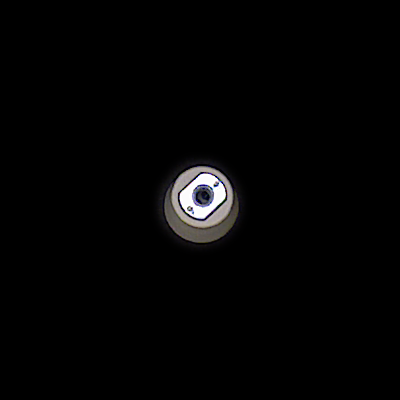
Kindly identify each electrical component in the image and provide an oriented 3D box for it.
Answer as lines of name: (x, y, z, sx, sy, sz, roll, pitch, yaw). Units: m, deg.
electrical component: (0.000, 0.000, 0.625, 0.044, 0.044, 0.065, 0, -5, 0)
